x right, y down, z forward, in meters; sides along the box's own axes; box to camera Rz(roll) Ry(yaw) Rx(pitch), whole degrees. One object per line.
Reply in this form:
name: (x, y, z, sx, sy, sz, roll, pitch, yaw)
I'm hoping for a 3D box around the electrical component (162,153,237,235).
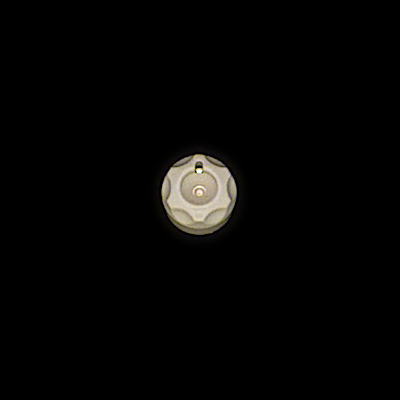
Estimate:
electrical component: (0.000, 0.000, 0.633, 0.043, 0.043, 0.061, 0, -15, 0)
